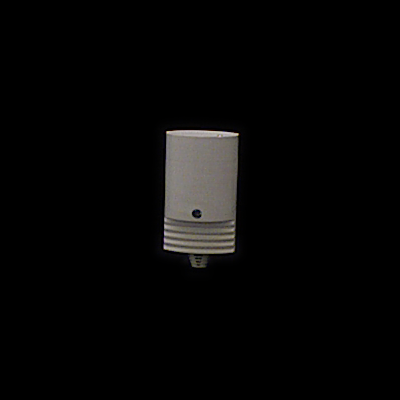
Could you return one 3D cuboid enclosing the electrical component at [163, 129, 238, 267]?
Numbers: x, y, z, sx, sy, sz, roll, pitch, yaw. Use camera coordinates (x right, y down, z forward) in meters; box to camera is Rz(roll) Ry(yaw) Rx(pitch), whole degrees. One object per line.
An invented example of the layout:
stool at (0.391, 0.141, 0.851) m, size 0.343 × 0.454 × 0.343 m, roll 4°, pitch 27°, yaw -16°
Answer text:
electrical component at (0.000, 0.000, 0.644) m, size 0.043 × 0.082 × 0.042 m, roll 2°, pitch 12°, yaw 0°
